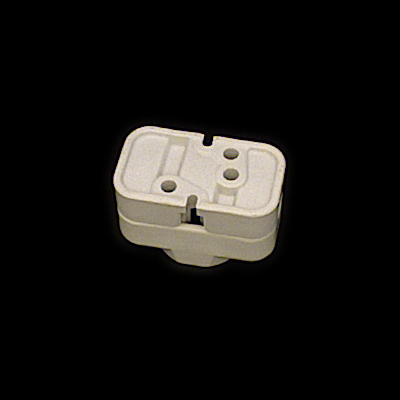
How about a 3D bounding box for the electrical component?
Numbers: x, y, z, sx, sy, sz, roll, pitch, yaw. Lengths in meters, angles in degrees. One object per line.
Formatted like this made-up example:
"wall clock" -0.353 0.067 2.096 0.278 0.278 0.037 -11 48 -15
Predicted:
"electrical component" 0.000 0.000 0.637 0.095 0.053 0.059 9 -37 7
